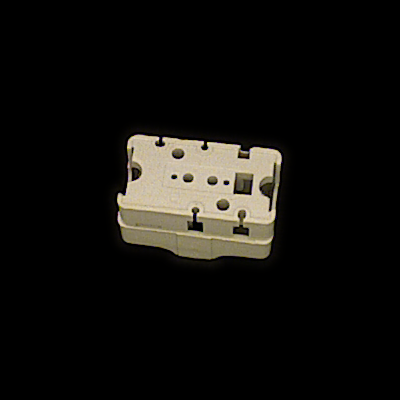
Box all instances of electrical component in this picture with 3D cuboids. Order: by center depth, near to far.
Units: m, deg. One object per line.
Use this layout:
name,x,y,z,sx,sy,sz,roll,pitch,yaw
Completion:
electrical component,0.000,0.000,0.636,0.089,0.050,0.055,7,-27,2
